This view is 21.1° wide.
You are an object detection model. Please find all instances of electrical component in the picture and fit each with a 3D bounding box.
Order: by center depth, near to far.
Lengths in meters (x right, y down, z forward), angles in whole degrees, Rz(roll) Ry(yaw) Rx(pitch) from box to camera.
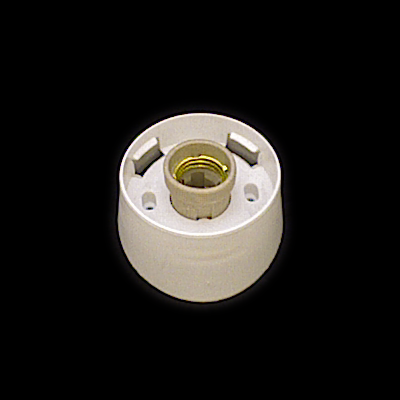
[{"bbox_3d":[0.000,0.000,0.627,0.099,0.098,0.064,0,-37,-1],"label":"electrical component"}]
